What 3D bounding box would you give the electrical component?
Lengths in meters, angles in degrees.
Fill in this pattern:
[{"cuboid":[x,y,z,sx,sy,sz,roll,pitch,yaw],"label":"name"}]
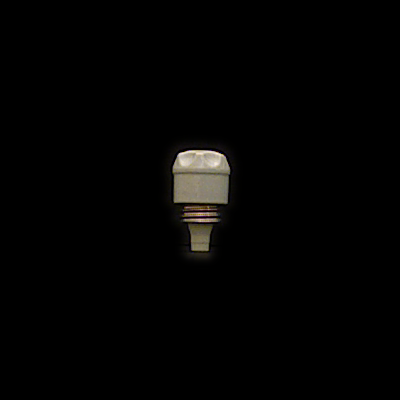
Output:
[{"cuboid":[0.000,0.000,0.659,0.035,0.061,0.035,1,1,1],"label":"electrical component"}]
